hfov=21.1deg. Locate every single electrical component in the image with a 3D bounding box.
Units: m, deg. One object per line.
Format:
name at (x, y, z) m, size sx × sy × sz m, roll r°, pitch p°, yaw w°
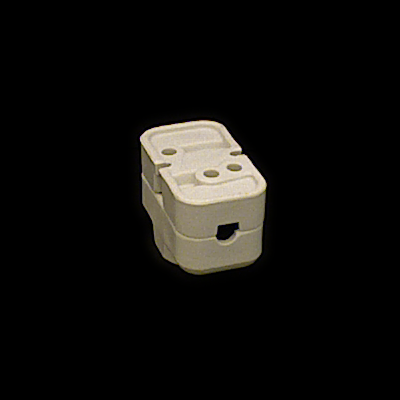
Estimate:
electrical component at (0.000, 0.000, 0.643) m, size 0.054 × 0.060 × 0.093 m, roll -10°, pitch 33°, yaw -16°
